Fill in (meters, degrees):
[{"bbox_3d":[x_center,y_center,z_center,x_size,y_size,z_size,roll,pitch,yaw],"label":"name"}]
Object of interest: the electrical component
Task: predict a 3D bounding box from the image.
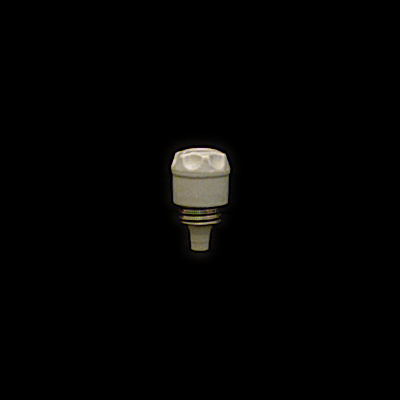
[{"bbox_3d":[0.000,0.000,0.650,0.035,0.062,0.035,1,12,0],"label":"electrical component"}]
